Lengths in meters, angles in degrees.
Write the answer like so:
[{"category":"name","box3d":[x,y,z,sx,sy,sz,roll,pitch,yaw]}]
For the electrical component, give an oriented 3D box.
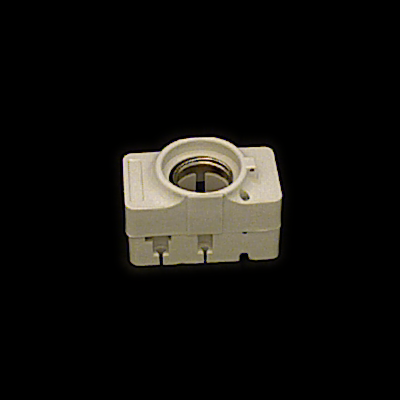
[{"category":"electrical component","box3d":[0.000,0.000,0.639,0.090,0.056,0.049,-3,43,-4]}]
